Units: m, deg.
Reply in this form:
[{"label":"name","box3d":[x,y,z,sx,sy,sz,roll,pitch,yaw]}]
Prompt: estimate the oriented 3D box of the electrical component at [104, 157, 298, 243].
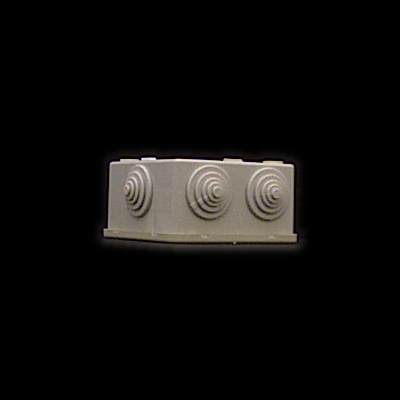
[{"label":"electrical component","box3d":[0.000,0.000,0.651,0.100,0.048,0.099,1,0,-32]}]
